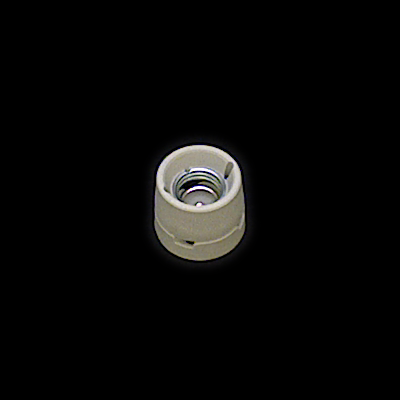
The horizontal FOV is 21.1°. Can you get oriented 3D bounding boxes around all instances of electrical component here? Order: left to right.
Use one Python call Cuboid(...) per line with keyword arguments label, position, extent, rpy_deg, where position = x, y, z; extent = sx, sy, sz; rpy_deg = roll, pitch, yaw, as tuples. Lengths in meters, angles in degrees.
Cuboid(label="electrical component", position=(0.000, 0.000, 0.633), extent=(0.055, 0.055, 0.047), rpy_deg=(0, -37, 1))
